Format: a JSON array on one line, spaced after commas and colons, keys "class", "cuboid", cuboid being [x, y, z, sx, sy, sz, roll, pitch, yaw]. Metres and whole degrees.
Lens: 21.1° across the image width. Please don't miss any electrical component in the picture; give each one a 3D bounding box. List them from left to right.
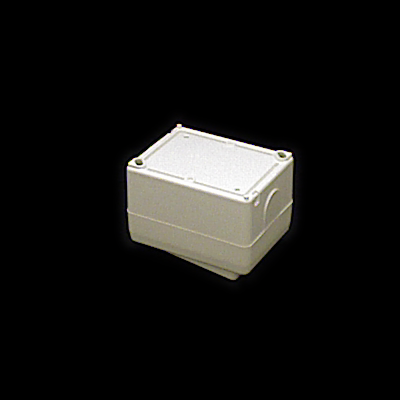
[{"class": "electrical component", "cuboid": [0.000, 0.000, 0.636, 0.095, 0.061, 0.061, 16, 35, 23]}]
